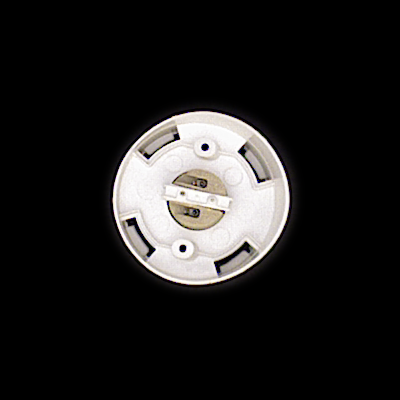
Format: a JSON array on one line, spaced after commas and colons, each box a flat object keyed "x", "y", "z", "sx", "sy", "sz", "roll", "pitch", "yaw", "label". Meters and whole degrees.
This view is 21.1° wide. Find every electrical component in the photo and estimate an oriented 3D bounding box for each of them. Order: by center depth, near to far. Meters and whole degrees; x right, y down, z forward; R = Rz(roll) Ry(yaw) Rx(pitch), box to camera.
[{"x": 0.000, "y": 0.000, "z": 0.625, "sx": 0.099, "sy": 0.099, "sz": 0.064, "roll": 0, "pitch": -7, "yaw": -1, "label": "electrical component"}]
